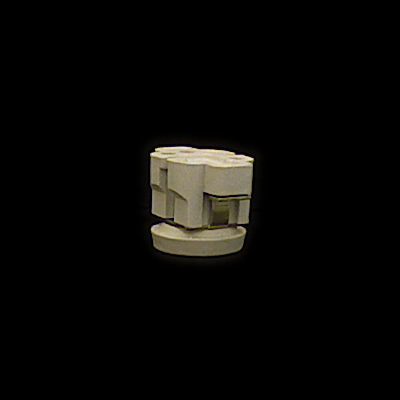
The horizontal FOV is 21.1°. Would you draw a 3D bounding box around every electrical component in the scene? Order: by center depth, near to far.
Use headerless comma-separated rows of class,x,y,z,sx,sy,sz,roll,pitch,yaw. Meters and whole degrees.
electrical component,0.000,0.000,0.651,0.058,0.057,0.077,-5,14,-32
